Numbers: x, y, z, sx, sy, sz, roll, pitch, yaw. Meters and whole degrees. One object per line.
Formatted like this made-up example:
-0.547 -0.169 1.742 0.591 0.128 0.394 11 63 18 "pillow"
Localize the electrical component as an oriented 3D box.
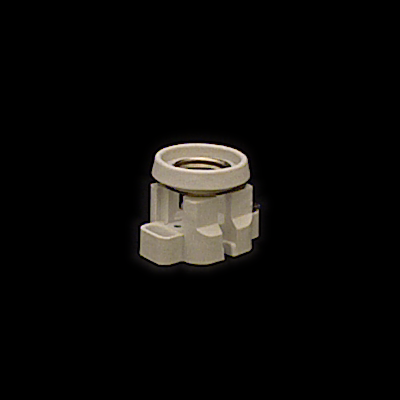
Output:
0.000 0.000 0.641 0.078 0.057 0.057 -16 27 -37 "electrical component"
